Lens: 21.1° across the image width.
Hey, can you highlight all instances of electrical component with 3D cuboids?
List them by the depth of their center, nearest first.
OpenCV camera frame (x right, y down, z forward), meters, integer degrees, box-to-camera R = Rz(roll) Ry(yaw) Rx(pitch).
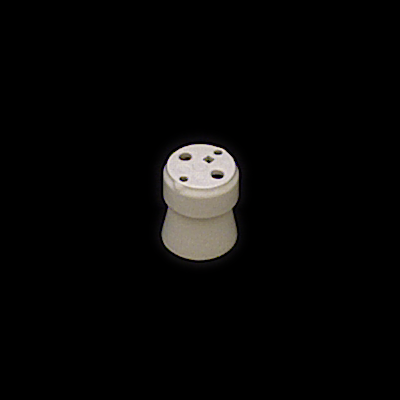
[{"bbox_3d":[0.000,0.000,0.632,0.045,0.055,0.044,1,43,0],"label":"electrical component"}]
